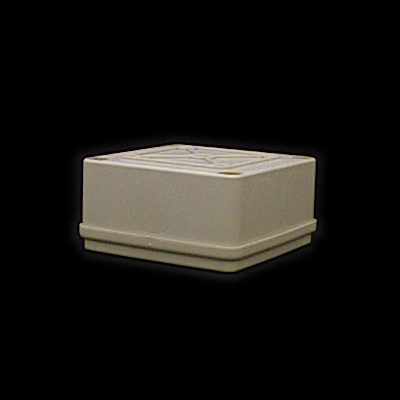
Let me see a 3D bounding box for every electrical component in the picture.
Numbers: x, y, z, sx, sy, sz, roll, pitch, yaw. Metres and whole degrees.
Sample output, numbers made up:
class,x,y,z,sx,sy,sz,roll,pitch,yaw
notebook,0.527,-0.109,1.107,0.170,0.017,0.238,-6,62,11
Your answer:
class,x,y,z,sx,sy,sz,roll,pitch,yaw
electrical component,0.000,0.000,0.646,0.108,0.056,0.108,8,12,30
